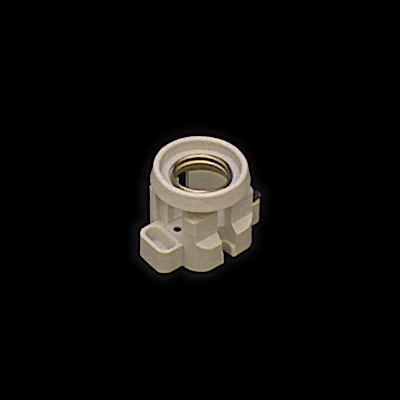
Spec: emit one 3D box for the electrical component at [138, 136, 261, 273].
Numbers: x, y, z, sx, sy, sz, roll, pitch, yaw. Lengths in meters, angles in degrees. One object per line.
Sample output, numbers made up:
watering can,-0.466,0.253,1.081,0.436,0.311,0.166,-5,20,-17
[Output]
electrical component,0.000,0.000,0.633,0.078,0.057,0.057,-28,50,-28
